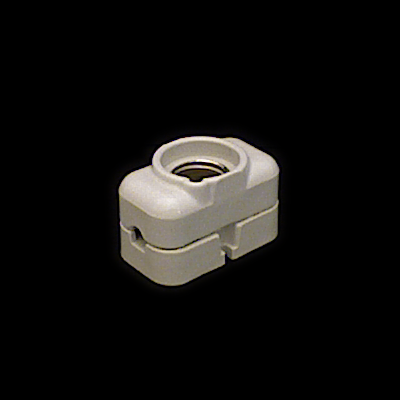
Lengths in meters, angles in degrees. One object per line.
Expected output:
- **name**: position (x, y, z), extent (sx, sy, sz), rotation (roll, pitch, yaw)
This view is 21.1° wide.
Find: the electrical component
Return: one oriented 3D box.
- **electrical component**: position (0.000, 0.000, 0.640), extent (0.095, 0.060, 0.053), rotation (-24, 39, -33)
